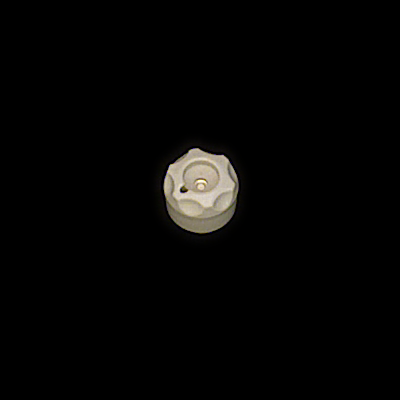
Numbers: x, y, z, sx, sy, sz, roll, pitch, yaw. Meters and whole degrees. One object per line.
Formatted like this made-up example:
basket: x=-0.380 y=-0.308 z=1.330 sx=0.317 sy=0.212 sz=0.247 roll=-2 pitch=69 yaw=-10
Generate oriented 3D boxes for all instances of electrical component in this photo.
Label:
electrical component: x=0.000 y=0.000 z=0.634 sx=0.043 sy=0.043 sz=0.062 roll=0 pitch=-27 yaw=0
